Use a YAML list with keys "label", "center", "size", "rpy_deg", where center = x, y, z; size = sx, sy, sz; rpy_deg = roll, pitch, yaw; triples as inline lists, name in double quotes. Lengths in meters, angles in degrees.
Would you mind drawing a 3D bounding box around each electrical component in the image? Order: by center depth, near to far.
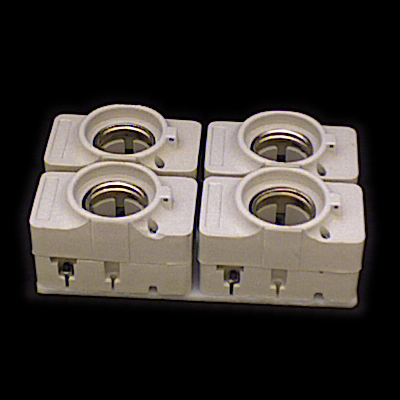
- label: "electrical component"
  center: [0.000, 0.000, 0.631]
  size: [0.186, 0.061, 0.104]
  rpy_deg: [3, 42, 1]
